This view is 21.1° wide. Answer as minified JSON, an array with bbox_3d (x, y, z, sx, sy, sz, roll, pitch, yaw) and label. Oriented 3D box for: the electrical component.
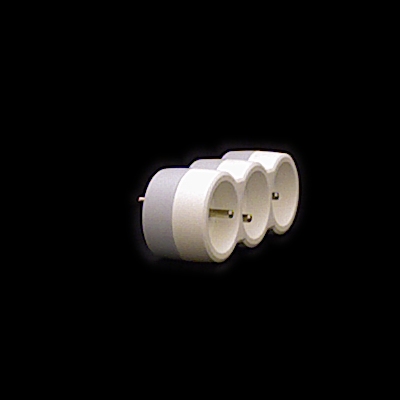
[{"bbox_3d":[0.000,0.000,0.642,0.073,0.052,0.138,4,11,26],"label":"electrical component"}]
